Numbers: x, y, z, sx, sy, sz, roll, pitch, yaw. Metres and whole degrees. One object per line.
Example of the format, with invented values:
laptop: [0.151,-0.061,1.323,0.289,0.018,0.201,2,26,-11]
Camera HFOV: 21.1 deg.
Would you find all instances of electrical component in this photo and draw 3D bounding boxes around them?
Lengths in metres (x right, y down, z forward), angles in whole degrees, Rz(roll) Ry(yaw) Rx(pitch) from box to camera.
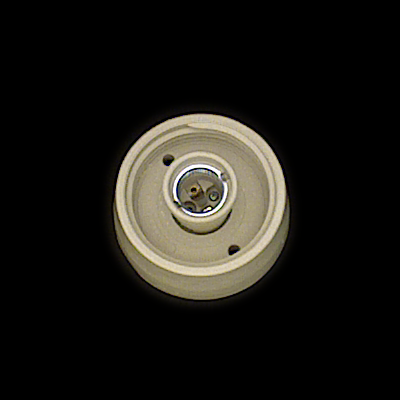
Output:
electrical component: [0.000,0.000,0.634,0.108,0.108,0.060,0,-16,0]
